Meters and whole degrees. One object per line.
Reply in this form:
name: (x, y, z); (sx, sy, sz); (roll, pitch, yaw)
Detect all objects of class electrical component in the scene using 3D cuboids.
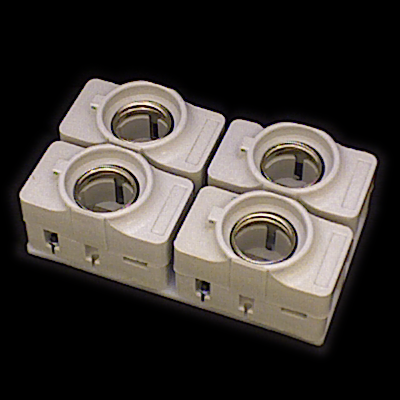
electrical component: (0.000, 0.000, 0.627); (0.186, 0.105, 0.060); (17, -36, 12)
